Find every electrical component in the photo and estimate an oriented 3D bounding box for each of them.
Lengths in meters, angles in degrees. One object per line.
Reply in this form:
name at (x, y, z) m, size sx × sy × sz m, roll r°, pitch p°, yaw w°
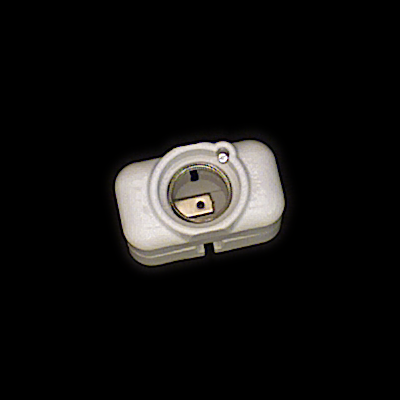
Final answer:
electrical component at (0.000, 0.000, 0.634) m, size 0.095 × 0.054 × 0.059 m, roll -12°, pitch -15°, yaw -4°
